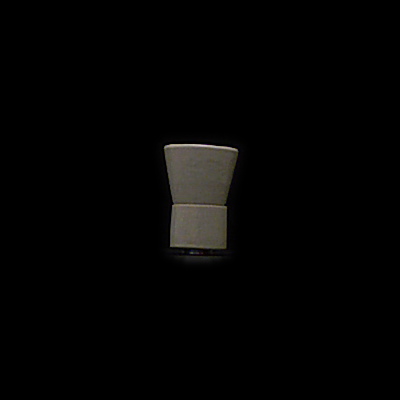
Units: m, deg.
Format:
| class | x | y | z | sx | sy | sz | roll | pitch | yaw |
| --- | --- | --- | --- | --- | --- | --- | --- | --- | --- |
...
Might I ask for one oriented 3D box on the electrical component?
| class | x | y | z | sx | sy | sz | roll | pitch | yaw |
| --- | --- | --- | --- | --- | --- | --- | --- | --- | --- |
| electrical component | 0.000 | 0.000 | 0.652 | 0.044 | 0.065 | 0.044 | 2 | 0 | 0 |
